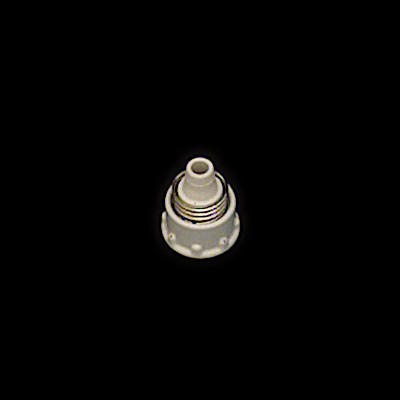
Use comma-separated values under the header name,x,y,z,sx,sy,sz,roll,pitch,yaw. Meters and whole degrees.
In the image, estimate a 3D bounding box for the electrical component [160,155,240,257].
name,x,y,z,sx,sy,sz,roll,pitch,yaw
electrical component,0.000,0.000,0.636,0.048,0.048,0.062,0,-38,0
